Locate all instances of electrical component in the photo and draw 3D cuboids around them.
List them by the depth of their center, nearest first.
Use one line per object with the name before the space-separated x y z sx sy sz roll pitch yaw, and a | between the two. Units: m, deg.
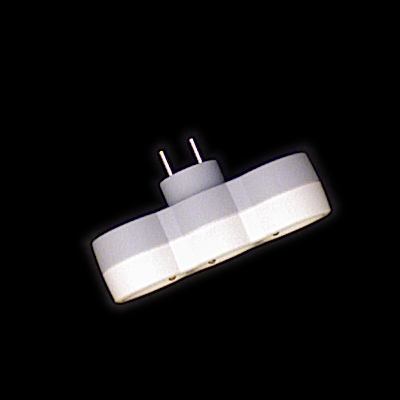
electrical component | 0.000 0.000 0.631 0.138 0.074 0.052 -23 -8 -2
